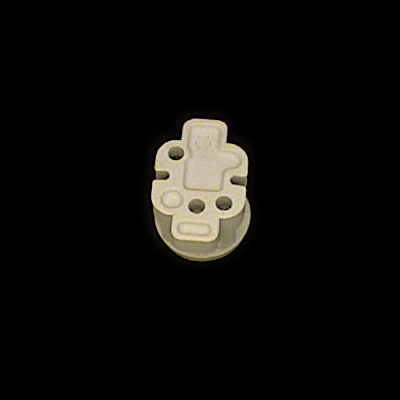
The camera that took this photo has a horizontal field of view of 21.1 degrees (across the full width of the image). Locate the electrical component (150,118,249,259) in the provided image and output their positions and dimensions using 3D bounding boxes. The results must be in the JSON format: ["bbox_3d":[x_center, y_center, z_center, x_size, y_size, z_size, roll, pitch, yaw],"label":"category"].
[{"bbox_3d":[0.000,0.000,0.636,0.058,0.078,0.057,3,-28,3],"label":"electrical component"}]
